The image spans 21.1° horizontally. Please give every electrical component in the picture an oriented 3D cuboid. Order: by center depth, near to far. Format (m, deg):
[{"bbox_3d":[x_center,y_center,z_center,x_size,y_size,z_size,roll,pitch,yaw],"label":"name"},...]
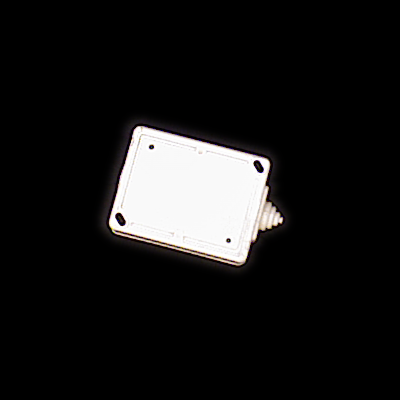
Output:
[{"bbox_3d":[0.000,0.000,0.629,0.096,0.062,0.061,15,-6,1],"label":"electrical component"}]
